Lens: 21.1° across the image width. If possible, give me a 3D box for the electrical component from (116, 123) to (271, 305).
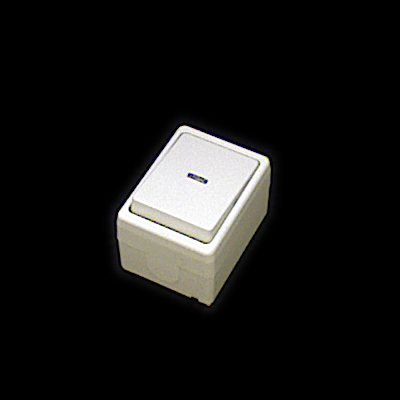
[{"bbox_3d":[0.000,0.000,0.629,0.061,0.096,0.061,22,-35,16],"label":"electrical component"}]
